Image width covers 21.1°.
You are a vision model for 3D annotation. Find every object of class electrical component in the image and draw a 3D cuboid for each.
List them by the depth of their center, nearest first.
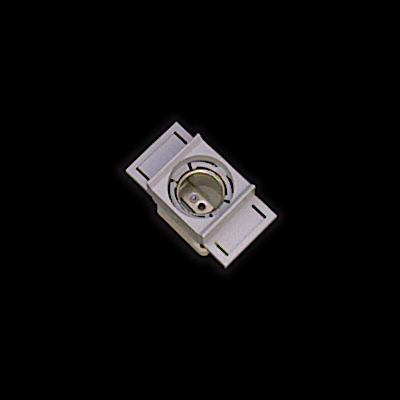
[{"bbox_3d":[0.000,0.000,0.624,0.081,0.042,0.063,44,-10,11],"label":"electrical component"}]
